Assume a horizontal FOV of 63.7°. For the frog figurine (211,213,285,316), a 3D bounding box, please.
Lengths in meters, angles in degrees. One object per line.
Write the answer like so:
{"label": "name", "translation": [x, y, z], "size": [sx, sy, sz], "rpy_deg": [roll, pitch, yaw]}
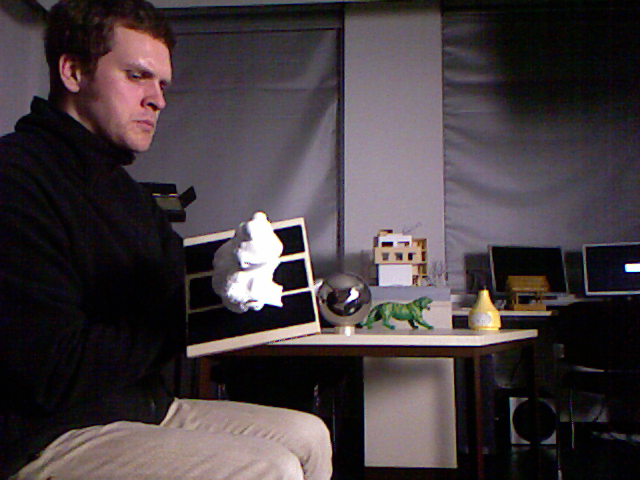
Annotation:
{"label": "frog figurine", "translation": [-0.111, 0.032, 0.748], "size": [0.123, 0.140, 0.157], "rpy_deg": [7, -25, 12]}
